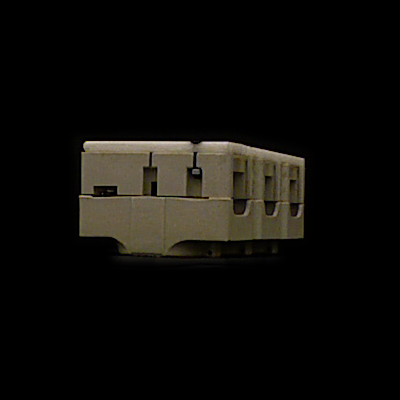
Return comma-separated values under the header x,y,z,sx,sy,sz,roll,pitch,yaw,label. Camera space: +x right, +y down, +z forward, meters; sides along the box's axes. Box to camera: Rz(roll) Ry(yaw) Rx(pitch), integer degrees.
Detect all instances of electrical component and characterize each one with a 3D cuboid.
x,y,z,sx,sy,sz,roll,pitch,yaw,label
0.000,0.000,0.653,0.089,0.062,0.150,1,-1,22,electrical component
